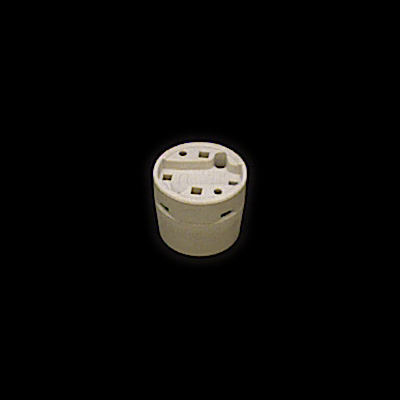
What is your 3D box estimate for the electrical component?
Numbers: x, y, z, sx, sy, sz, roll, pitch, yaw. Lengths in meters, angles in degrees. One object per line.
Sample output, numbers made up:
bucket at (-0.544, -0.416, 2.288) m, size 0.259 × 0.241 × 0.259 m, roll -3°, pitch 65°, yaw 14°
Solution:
electrical component at (0.000, 0.000, 0.637) m, size 0.055 × 0.047 × 0.055 m, roll 0°, pitch 42°, yaw 0°
